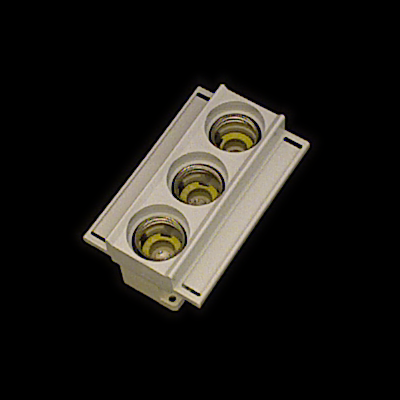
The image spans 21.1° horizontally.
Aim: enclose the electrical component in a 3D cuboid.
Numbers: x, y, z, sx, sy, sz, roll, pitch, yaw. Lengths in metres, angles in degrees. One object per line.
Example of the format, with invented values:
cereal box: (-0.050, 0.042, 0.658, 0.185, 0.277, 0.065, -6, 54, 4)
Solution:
electrical component: (0.000, 0.000, 0.637, 0.078, 0.121, 0.063, 29, -23, 16)
